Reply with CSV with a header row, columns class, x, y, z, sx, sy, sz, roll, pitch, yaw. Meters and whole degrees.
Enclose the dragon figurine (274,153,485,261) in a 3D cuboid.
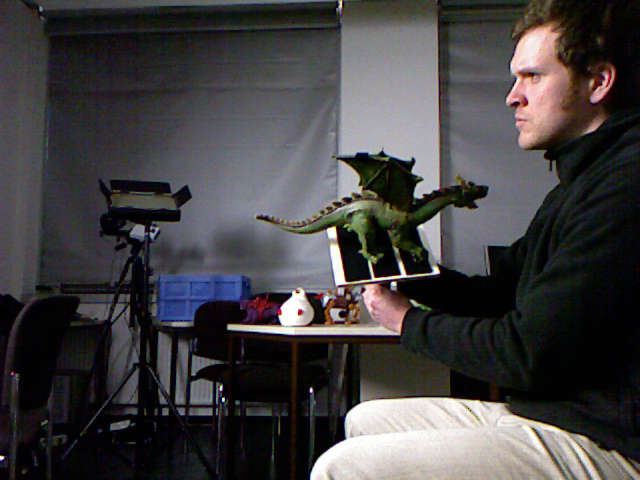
class,x,y,z,sx,sy,sz,roll,pitch,yaw
dragon figurine,0.102,-0.078,0.985,0.412,0.126,0.238,3,-42,6
